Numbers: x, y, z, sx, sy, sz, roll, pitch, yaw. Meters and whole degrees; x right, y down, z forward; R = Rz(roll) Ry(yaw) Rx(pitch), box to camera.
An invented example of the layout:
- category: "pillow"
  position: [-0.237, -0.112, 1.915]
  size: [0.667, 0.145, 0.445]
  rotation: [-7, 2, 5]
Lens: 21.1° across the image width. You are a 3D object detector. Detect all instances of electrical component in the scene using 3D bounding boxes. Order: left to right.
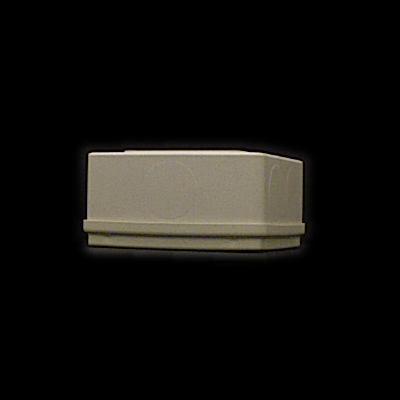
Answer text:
- category: "electrical component"
  position: [0.000, 0.000, 0.647]
  size: [0.108, 0.056, 0.109]
  rotation: [1, 0, 18]
